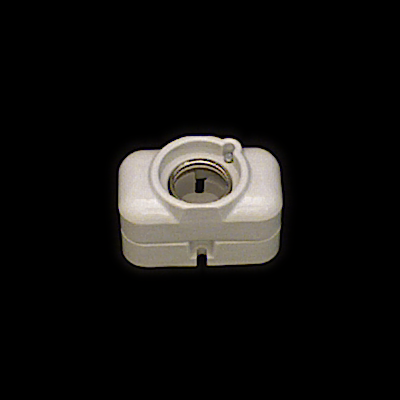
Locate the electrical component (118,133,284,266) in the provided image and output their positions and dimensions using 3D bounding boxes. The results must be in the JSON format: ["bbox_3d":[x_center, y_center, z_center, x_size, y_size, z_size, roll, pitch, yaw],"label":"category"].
[{"bbox_3d":[0.000,0.000,0.636,0.095,0.053,0.059,-2,-37,-2],"label":"electrical component"}]
